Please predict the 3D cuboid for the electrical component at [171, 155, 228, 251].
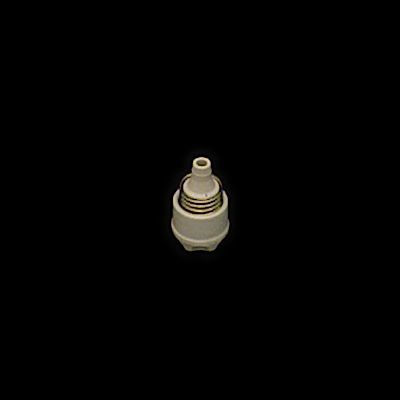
[{"bbox_3d":[0.000,0.000,0.644,0.035,0.062,0.034,1,43,-1],"label":"electrical component"}]
